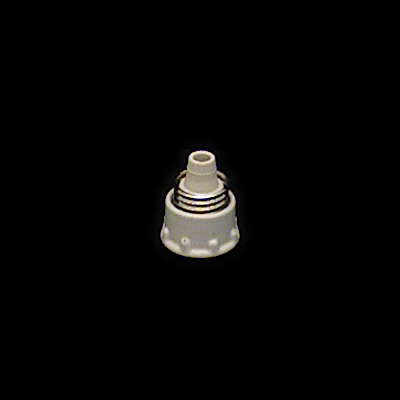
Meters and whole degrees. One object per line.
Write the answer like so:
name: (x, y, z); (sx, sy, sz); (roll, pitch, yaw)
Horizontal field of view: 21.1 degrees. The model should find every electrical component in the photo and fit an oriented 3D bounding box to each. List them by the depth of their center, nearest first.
electrical component: (0.000, 0.000, 0.640); (0.048, 0.063, 0.047); (1, 33, 0)
